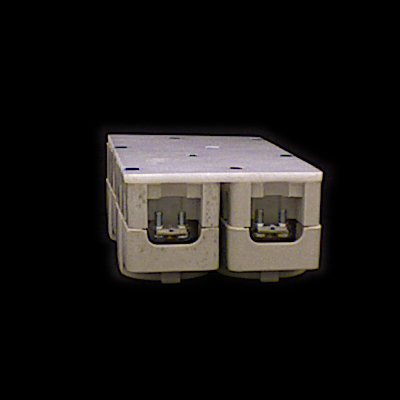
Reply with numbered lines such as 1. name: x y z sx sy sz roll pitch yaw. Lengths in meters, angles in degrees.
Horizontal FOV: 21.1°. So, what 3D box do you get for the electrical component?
1. electrical component: 0.000 0.000 0.643 0.106 0.060 0.184 0 10 -8
